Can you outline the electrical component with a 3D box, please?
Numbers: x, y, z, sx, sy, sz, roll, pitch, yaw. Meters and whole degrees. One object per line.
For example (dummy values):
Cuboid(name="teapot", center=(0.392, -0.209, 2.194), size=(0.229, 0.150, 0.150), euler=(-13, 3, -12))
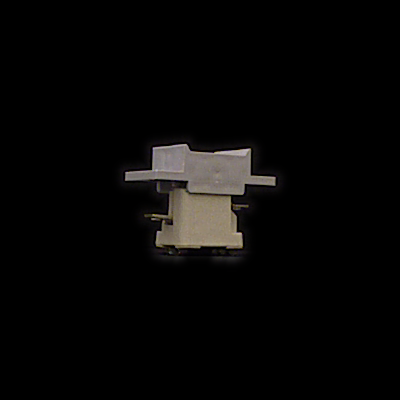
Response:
Cuboid(name="electrical component", center=(0.000, 0.000, 0.648), size=(0.081, 0.064, 0.042), euler=(2, 2, -29))
